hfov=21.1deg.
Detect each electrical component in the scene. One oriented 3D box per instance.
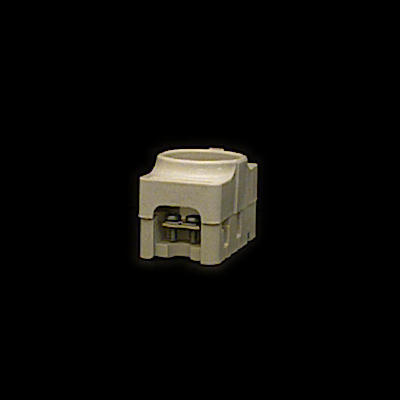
[{"bbox_3d":[0.000,0.000,0.651,0.050,0.056,0.089,5,12,16],"label":"electrical component"}]
